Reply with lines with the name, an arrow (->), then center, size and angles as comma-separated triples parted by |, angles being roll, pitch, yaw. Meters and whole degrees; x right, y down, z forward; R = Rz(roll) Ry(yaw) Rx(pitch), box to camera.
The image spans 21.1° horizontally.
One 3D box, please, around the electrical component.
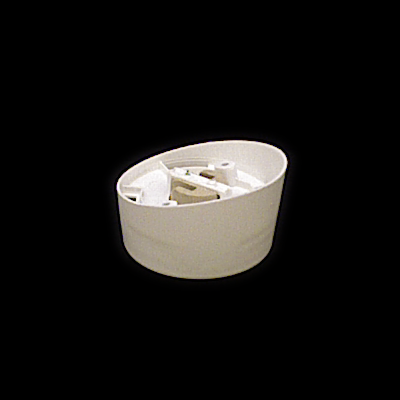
electrical component -> 0.000, 0.000, 0.633 | 0.099, 0.065, 0.097 | 2, 31, -1
